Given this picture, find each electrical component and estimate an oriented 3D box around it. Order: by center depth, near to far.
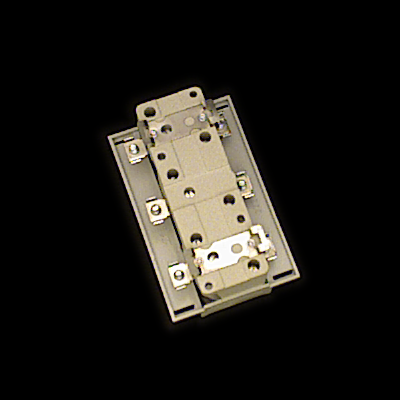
[{"bbox_3d":[0.000,0.000,0.634,0.079,0.121,0.062,-19,-15,-6],"label":"electrical component"}]
